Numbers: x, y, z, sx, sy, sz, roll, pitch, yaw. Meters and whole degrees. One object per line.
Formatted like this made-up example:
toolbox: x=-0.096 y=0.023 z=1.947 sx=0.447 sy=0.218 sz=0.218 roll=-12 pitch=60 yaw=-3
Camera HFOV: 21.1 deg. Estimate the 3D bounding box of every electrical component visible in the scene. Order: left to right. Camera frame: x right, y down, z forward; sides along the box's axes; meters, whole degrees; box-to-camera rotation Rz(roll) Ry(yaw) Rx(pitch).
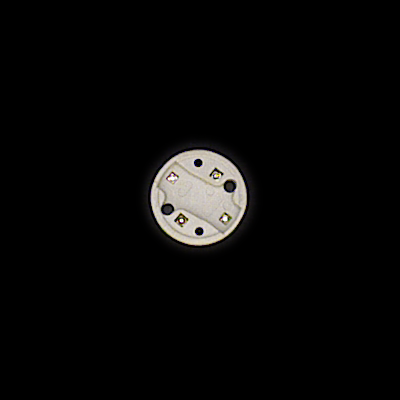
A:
electrical component: x=0.000 y=0.000 z=0.636 sx=0.055 sy=0.055 sz=0.047 roll=0 pitch=-7 yaw=0
